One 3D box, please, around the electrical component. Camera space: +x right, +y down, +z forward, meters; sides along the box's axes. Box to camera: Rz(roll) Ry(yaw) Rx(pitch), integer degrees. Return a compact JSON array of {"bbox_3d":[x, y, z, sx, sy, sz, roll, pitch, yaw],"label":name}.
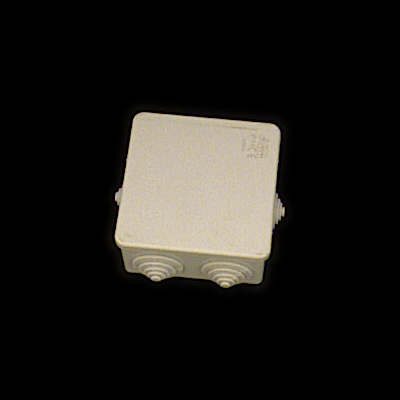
[{"bbox_3d":[0.000,0.000,0.641,0.100,0.100,0.048,6,-27,2],"label":"electrical component"}]
